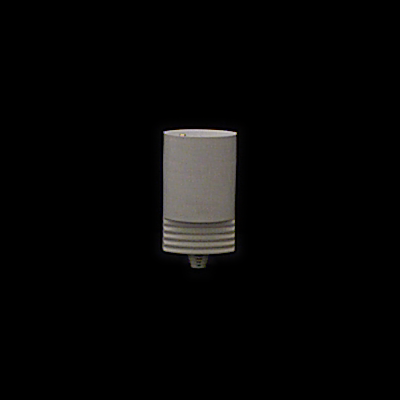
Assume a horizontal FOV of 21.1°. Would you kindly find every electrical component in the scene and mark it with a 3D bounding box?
[{"bbox_3d":[0.000,0.000,0.639,0.043,0.081,0.043,1,10,0],"label":"electrical component"}]
